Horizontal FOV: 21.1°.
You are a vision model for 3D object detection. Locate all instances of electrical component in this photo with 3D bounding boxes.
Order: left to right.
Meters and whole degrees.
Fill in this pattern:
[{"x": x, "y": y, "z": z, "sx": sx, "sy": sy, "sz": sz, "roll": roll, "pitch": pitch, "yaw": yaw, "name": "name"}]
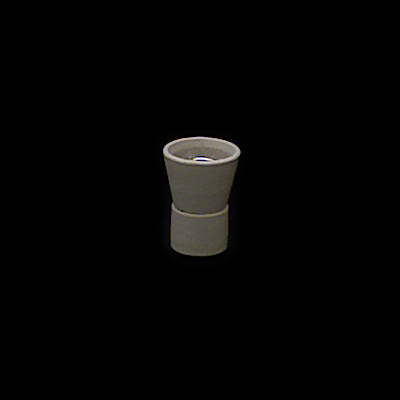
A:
[{"x": 0.000, "y": 0.000, "z": 0.636, "sx": 0.044, "sy": 0.066, "sz": 0.044, "roll": 2, "pitch": 22, "yaw": -1, "name": "electrical component"}]
